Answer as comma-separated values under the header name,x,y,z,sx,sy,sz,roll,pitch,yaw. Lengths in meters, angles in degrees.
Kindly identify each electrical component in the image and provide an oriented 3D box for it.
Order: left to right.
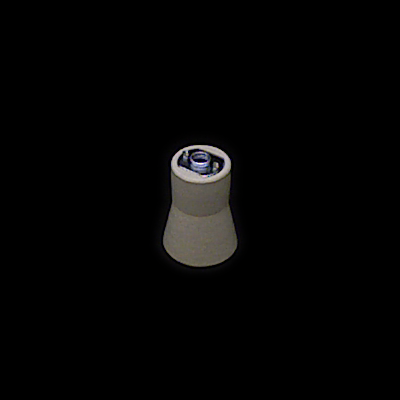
name,x,y,z,sx,sy,sz,roll,pitch,yaw
electrical component,0.000,0.000,0.630,0.044,0.066,0.044,1,41,0
